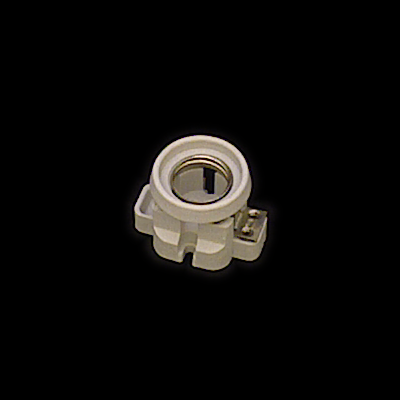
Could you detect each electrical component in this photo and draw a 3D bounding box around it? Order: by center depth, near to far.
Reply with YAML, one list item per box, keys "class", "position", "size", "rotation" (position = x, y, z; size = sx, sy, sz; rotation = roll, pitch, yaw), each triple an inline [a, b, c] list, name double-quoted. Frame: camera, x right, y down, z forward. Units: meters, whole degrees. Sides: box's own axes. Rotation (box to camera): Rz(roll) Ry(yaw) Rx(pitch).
- class: "electrical component"
  position: [0.000, 0.000, 0.630]
  size: [0.078, 0.057, 0.057]
  rotation: [15, -36, 10]
